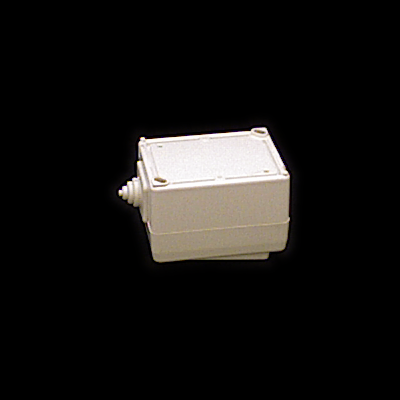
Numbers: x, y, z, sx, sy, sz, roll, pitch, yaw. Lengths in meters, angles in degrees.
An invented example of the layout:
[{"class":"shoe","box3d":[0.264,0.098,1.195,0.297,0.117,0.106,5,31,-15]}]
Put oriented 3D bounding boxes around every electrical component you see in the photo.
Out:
[{"class":"electrical component","box3d":[0.000,0.000,0.637,0.096,0.061,0.061,-5,32,-9]}]
